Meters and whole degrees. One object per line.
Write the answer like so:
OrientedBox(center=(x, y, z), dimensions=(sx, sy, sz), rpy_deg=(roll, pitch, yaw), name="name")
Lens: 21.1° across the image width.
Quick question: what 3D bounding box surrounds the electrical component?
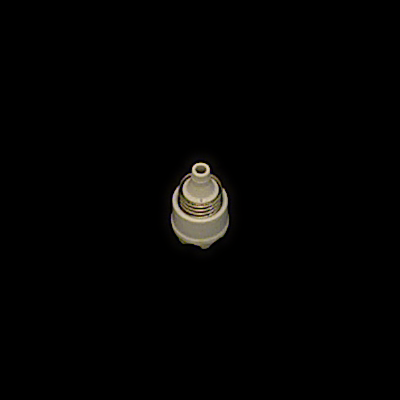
OrientedBox(center=(0.000, 0.000, 0.641), dimensions=(0.035, 0.035, 0.062), rpy_deg=(0, -36, -1), name="electrical component")
